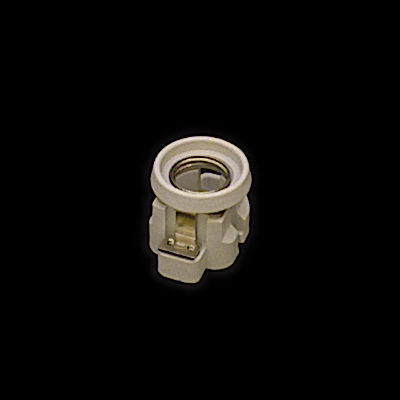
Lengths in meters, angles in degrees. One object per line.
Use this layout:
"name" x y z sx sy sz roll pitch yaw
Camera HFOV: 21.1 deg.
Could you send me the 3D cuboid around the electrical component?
"electrical component" 0.000 0.000 0.630 0.057 0.057 0.078 15 44 15
